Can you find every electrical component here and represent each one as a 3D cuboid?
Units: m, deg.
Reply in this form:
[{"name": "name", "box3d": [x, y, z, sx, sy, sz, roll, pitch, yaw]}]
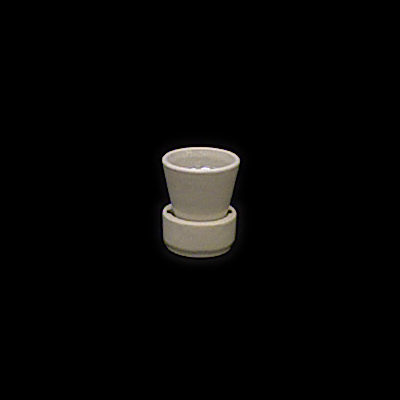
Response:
[{"name": "electrical component", "box3d": [0.000, 0.000, 0.638, 0.045, 0.056, 0.044, 1, 22, 0]}]
